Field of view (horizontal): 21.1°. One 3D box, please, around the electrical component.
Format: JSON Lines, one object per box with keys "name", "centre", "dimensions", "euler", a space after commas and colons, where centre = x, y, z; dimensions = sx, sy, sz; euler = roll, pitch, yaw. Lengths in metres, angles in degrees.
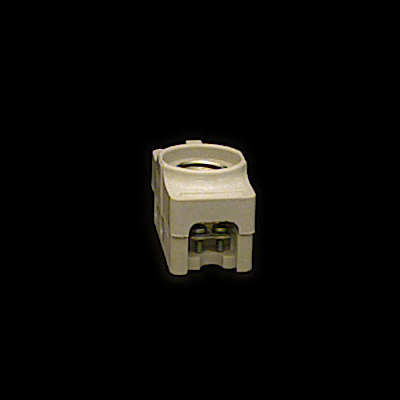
{"name": "electrical component", "centre": [0.000, 0.000, 0.647], "dimensions": [0.050, 0.056, 0.088], "euler": [-3, 22, -10]}
